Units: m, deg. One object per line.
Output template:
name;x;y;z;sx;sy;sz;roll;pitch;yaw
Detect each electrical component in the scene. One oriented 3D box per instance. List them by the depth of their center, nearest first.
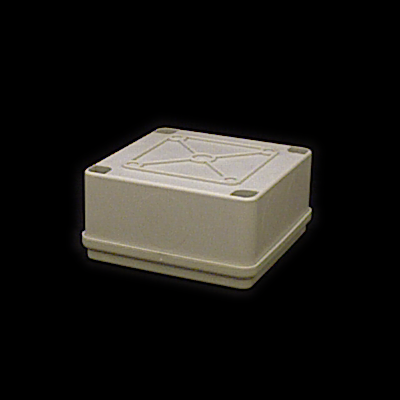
electrical component;0.000;0.000;0.641;0.108;0.057;0.108;10;22;22
